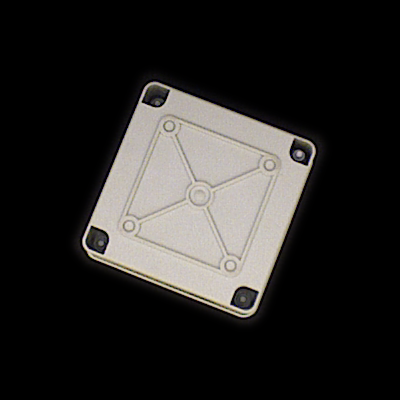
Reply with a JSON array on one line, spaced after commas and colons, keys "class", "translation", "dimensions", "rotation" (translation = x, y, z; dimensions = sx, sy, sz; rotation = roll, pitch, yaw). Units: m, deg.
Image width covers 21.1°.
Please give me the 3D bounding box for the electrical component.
[{"class": "electrical component", "translation": [0.000, 0.000, 0.629], "dimensions": [0.109, 0.109, 0.056], "rotation": [21, -7, 2]}]
